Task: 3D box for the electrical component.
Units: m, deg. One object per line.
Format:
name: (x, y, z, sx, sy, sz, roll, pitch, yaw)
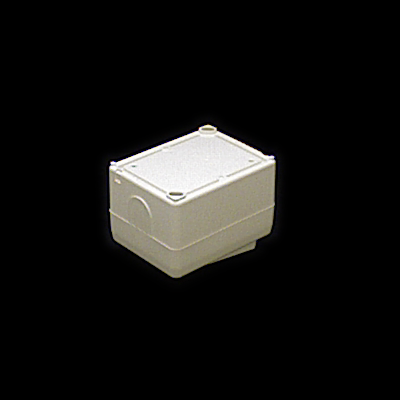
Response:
electrical component: (0.001, 0.000, 0.640, 0.095, 0.062, 0.061, -25, 39, -35)
